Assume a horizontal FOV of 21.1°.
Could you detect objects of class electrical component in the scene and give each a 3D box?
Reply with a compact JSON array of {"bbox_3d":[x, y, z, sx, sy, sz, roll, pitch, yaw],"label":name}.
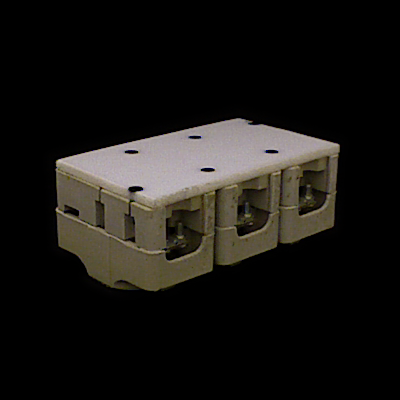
[{"bbox_3d":[0.000,0.000,0.642,0.149,0.063,0.088,-17,27,-40],"label":"electrical component"}]
